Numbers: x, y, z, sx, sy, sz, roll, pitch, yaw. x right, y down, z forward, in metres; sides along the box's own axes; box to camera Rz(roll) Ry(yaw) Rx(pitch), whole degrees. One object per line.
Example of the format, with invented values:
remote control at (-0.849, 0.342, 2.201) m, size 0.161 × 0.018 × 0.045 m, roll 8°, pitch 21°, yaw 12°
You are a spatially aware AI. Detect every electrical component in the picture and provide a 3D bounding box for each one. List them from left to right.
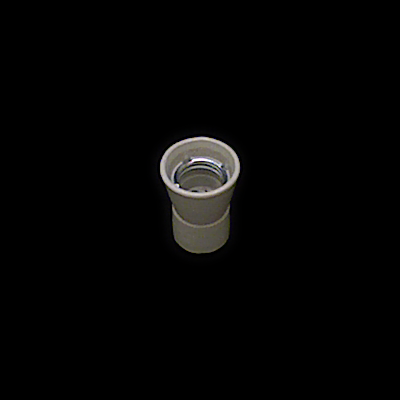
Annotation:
electrical component at (0.000, 0.000, 0.627) m, size 0.044 × 0.044 × 0.065 m, roll 0°, pitch -38°, yaw 1°
